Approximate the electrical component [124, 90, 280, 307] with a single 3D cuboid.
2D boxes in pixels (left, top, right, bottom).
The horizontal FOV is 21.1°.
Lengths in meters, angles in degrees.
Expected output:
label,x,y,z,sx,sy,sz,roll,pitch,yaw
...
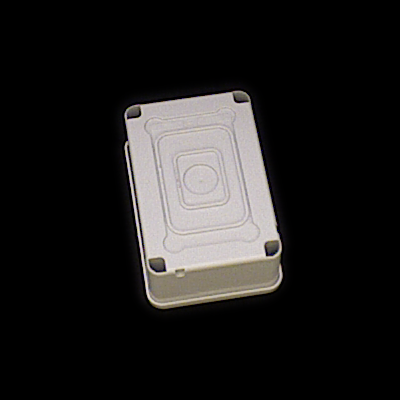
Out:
label,x,y,z,sx,sy,sz,roll,pitch,yaw
electrical component,0.000,0.000,0.628,0.078,0.113,0.057,-8,-27,-4
